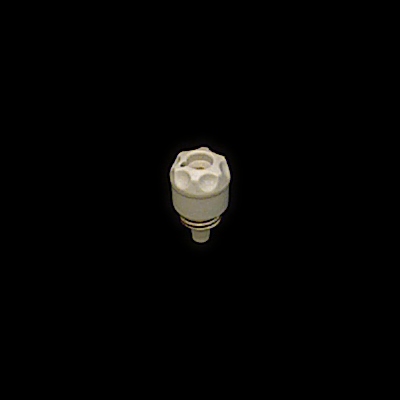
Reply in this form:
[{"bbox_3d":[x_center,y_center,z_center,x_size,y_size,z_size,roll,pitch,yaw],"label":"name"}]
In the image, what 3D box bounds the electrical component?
[{"bbox_3d":[0.000,0.000,0.638,0.035,0.062,0.035,0,42,0],"label":"electrical component"}]
